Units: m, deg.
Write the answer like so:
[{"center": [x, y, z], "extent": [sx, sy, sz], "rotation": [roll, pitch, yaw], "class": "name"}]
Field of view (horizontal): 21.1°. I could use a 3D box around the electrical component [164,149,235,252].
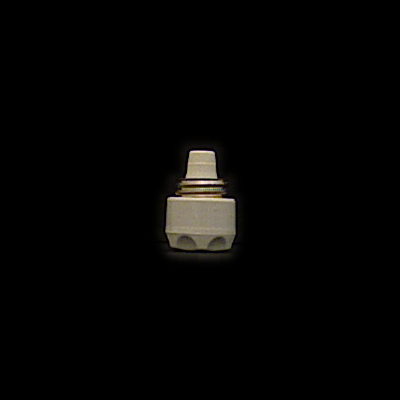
[{"center": [0.000, 0.000, 0.657], "extent": [0.043, 0.062, 0.043], "rotation": [1, 1, 1], "class": "electrical component"}]
